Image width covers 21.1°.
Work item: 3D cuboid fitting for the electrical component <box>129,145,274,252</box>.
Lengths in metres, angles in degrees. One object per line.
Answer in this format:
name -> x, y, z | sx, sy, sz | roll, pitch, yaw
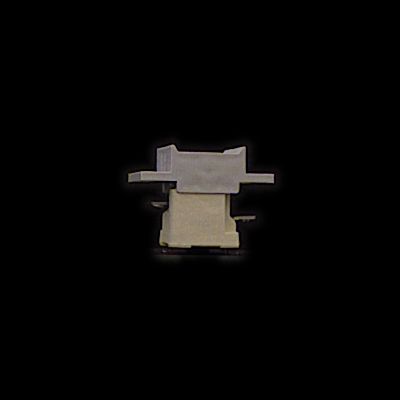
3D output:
electrical component -> 0.000, 0.000, 0.651 | 0.081, 0.064, 0.042 | 1, 0, -14
